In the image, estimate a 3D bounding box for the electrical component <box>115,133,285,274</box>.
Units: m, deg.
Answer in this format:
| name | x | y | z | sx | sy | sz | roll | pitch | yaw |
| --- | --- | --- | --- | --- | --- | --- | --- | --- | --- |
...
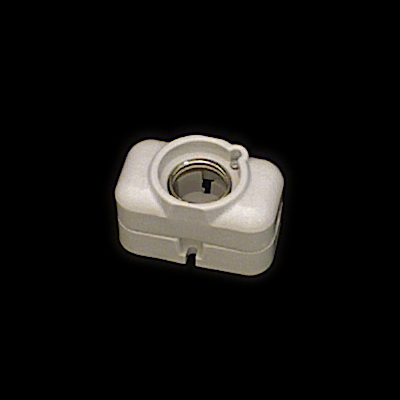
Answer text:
| name | x | y | z | sx | sy | sz | roll | pitch | yaw |
| --- | --- | --- | --- | --- | --- | --- | --- | --- | --- |
| electrical component | 0.000 | 0.000 | 0.636 | 0.095 | 0.053 | 0.059 | 10 | -36 | 7 |
